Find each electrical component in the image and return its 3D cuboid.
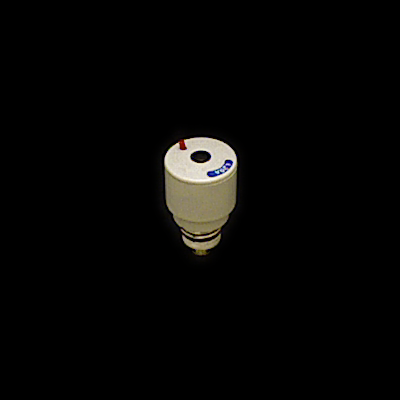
[{"bbox_3d":[0.000,0.000,0.626,0.040,0.079,0.039,0,41,0],"label":"electrical component"}]
